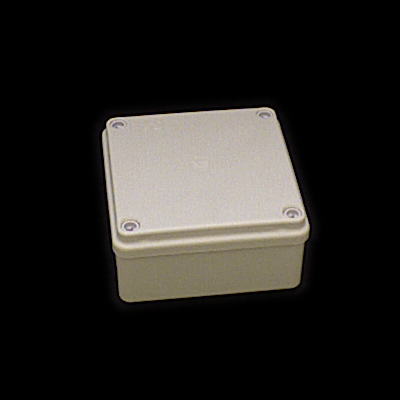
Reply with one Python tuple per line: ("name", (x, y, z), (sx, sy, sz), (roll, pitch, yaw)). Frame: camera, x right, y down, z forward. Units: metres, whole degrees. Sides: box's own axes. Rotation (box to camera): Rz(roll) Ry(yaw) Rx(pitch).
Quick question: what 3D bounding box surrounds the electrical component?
("electrical component", (0.000, 0.000, 0.631), (0.109, 0.056, 0.107), (-5, 43, -6))
